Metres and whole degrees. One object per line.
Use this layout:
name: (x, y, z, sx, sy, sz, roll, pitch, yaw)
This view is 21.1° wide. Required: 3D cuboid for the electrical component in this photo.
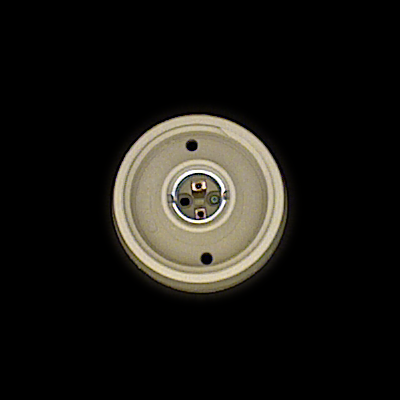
electrical component: (0.000, 0.000, 0.635, 0.108, 0.108, 0.060, 0, -6, 0)
